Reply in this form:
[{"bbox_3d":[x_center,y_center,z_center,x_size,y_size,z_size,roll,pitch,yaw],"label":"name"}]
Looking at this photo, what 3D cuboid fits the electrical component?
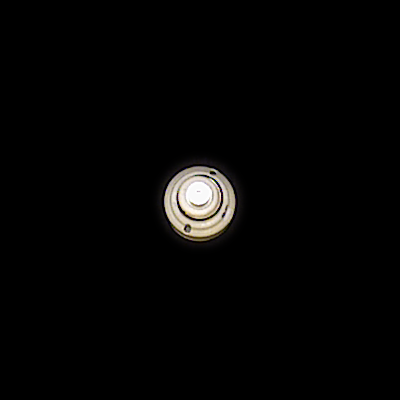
[{"bbox_3d":[0.000,0.000,0.618,0.040,0.040,0.078,0,-7,0],"label":"electrical component"}]
